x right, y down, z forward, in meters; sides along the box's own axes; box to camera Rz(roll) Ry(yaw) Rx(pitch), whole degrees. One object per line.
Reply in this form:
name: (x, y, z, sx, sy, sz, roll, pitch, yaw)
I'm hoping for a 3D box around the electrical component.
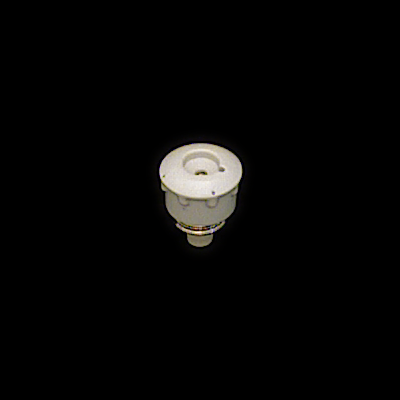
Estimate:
electrical component: (0.000, 0.000, 0.639, 0.048, 0.062, 0.047, 1, 43, 0)
